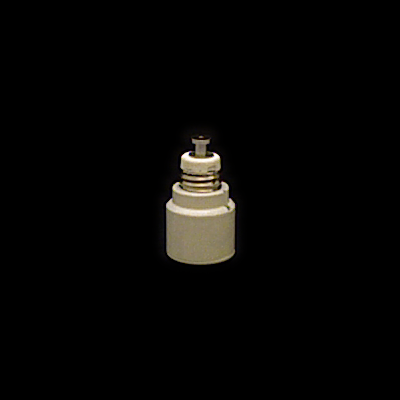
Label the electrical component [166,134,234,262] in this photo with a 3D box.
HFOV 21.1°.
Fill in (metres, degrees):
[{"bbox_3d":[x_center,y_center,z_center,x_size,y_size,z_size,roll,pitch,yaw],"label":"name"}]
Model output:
[{"bbox_3d":[0.000,0.000,0.634,0.040,0.079,0.039,0,21,0],"label":"electrical component"}]
